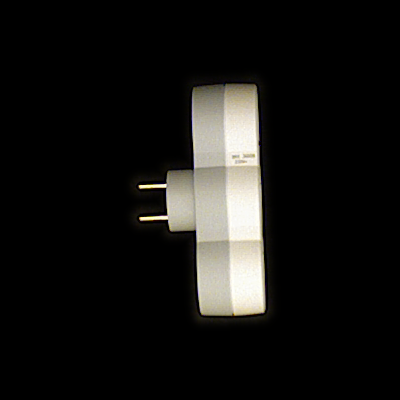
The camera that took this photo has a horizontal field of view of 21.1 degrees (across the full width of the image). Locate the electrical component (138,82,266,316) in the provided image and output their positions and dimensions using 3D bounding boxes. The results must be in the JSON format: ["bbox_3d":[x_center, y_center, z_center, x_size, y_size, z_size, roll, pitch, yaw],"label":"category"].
[{"bbox_3d":[0.000,0.000,0.639,0.074,0.138,0.052,-2,-6,1],"label":"electrical component"}]
